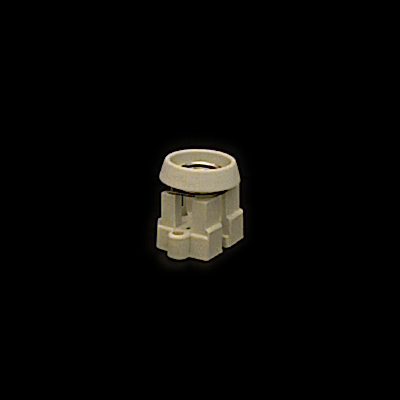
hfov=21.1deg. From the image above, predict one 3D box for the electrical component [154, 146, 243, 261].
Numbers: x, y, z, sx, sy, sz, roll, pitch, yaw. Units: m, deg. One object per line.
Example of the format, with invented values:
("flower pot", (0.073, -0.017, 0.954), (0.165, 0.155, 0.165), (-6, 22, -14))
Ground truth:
("electrical component", (0.000, 0.000, 0.648), (0.048, 0.056, 0.066), (15, 26, 27))
